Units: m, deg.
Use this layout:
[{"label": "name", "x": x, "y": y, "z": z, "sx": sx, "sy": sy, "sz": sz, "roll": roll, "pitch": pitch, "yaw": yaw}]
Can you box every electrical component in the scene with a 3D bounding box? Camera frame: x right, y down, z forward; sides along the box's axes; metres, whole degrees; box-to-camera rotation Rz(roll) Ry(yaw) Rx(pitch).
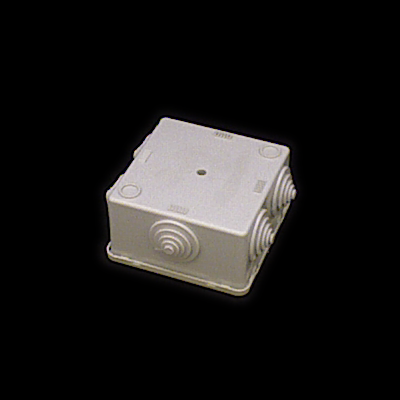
[{"label": "electrical component", "x": 0.000, "y": 0.000, "z": 0.635, "sx": 0.099, "sy": 0.049, "sz": 0.099, "roll": 15, "pitch": 44, "yaw": 15}]
